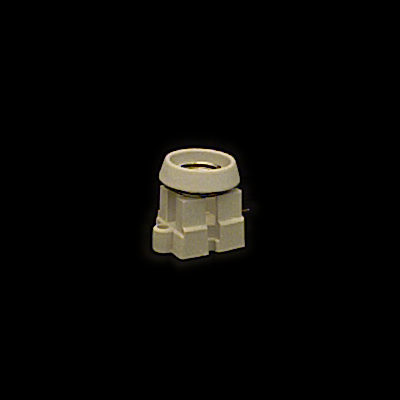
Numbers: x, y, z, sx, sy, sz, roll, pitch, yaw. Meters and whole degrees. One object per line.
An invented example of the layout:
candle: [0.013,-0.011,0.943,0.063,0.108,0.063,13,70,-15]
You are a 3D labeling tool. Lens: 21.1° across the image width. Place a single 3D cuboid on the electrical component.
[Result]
electrical component: [0.000,0.000,0.648,0.067,0.056,0.047,-11,27,-28]
